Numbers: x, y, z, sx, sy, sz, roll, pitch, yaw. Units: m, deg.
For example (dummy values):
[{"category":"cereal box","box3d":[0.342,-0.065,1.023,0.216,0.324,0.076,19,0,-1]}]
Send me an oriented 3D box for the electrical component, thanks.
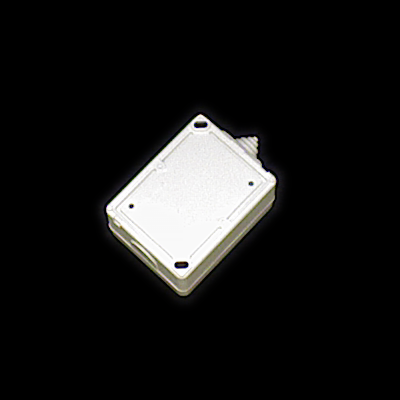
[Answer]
[{"category":"electrical component","box3d":[0.000,0.000,0.628,0.062,0.096,0.061,41,-13,12]}]
